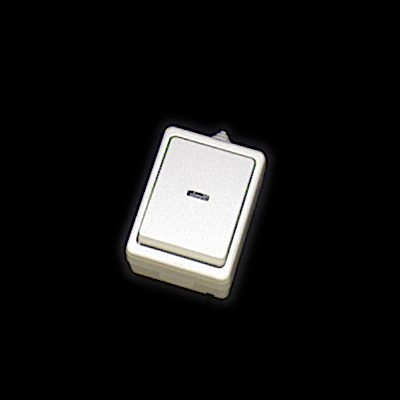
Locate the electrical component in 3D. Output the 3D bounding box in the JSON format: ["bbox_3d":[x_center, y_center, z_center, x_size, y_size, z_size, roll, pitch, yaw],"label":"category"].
[{"bbox_3d":[0.000,0.000,0.626,0.062,0.096,0.060,16,-16,5],"label":"electrical component"}]
